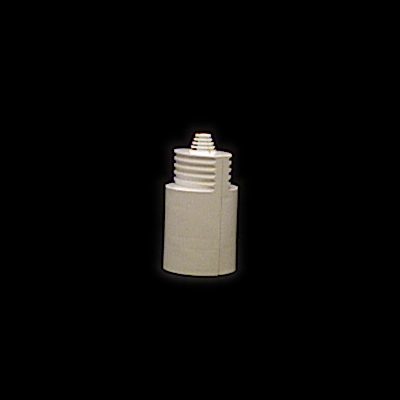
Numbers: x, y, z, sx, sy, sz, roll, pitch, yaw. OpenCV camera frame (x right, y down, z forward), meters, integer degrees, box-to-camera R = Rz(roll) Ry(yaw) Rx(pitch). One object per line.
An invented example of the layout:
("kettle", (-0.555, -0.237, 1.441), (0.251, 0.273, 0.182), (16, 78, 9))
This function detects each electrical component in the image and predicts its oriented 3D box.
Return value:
("electrical component", (0.000, 0.000, 0.641), (0.043, 0.081, 0.043), (1, 11, 0))
